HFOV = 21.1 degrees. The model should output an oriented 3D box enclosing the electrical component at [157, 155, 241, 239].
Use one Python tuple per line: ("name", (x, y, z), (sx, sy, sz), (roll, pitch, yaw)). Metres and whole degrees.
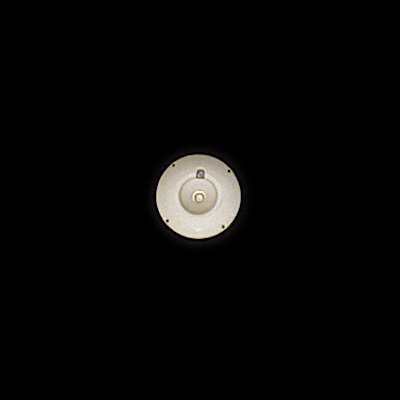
("electrical component", (0.000, 0.000, 0.634), (0.048, 0.048, 0.062), (0, -6, 0))
